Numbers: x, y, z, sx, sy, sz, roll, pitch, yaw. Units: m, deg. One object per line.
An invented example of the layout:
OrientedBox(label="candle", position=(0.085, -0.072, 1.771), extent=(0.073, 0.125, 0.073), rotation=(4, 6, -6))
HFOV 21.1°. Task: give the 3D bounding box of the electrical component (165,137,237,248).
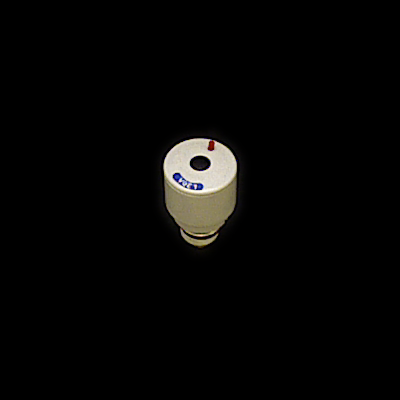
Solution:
OrientedBox(label="electrical component", position=(0.000, 0.000, 0.622), extent=(0.040, 0.040, 0.079), rotation=(0, -39, -1))
